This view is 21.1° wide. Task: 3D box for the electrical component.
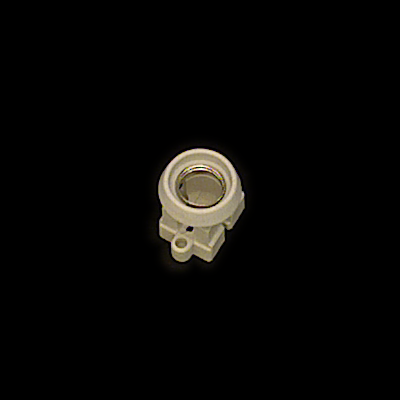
[{"bbox_3d":[0.000,0.000,0.637,0.048,0.067,0.055,27,-23,11],"label":"electrical component"}]
